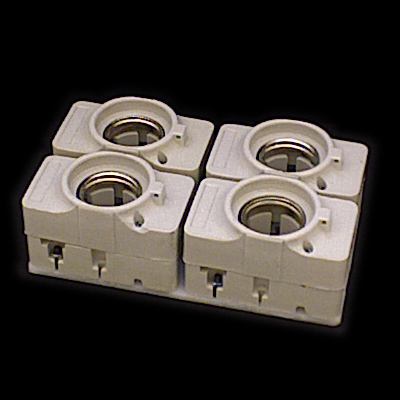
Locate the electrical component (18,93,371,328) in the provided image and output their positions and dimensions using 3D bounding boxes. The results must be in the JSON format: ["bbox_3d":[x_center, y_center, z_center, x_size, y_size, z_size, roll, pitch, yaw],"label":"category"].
[{"bbox_3d":[0.000,0.000,0.631,0.186,0.061,0.104,9,42,9],"label":"electrical component"}]
